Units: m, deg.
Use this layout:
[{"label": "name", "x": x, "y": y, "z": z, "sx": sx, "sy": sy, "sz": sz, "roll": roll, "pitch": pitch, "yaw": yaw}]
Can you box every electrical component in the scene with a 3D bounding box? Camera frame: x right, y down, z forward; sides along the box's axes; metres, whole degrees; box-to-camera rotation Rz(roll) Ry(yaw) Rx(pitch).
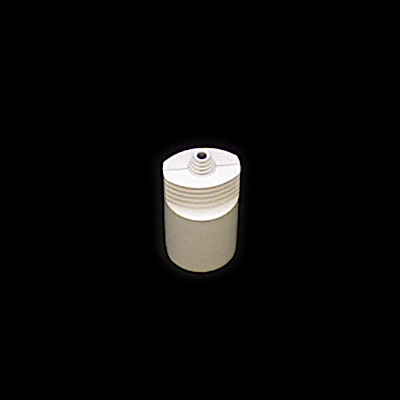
[{"label": "electrical component", "x": 0.000, "y": 0.000, "z": 0.619, "sx": 0.043, "sy": 0.043, "sz": 0.081, "roll": 0, "pitch": -38, "yaw": 0}]
